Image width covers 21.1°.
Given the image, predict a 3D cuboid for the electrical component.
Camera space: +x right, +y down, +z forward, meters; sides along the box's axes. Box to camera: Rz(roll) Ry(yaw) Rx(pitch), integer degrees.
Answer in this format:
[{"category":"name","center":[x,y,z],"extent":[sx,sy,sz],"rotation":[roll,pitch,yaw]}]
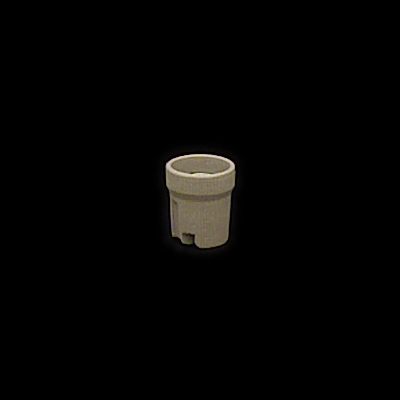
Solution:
[{"category":"electrical component","center":[0.000,0.000,0.639],"extent":[0.040,0.047,0.039],"rotation":[1,21,0]}]
